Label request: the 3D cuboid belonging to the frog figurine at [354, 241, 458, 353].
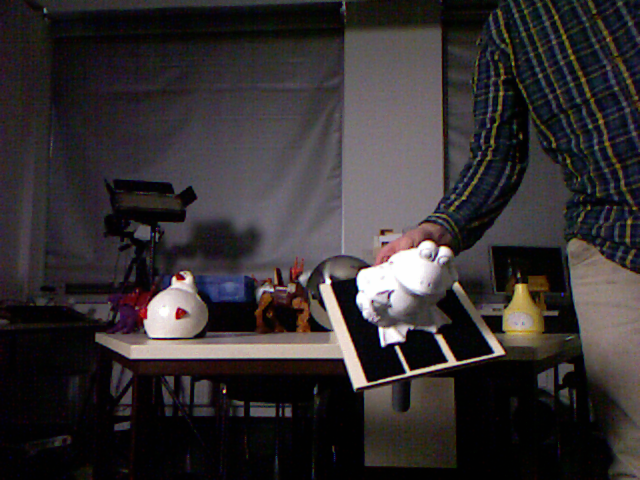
[{"bbox_3d":[0.114,0.054,0.684,0.137,0.156,0.126,-5,39,-3],"label":"frog figurine"}]
